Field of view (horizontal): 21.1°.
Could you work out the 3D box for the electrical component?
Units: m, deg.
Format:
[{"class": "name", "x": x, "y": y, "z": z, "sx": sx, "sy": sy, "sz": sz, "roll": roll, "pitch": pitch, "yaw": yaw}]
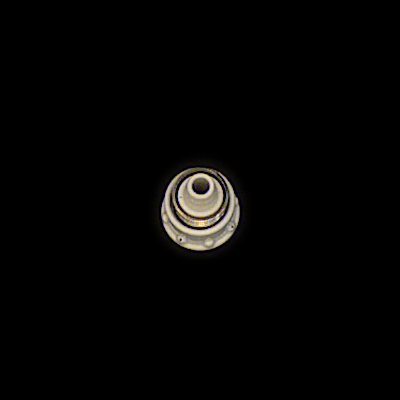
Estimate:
[{"class": "electrical component", "x": 0.000, "y": 0.000, "z": 0.634, "sx": 0.048, "sy": 0.048, "sz": 0.061, "roll": 0, "pitch": -16, "yaw": -1}]
